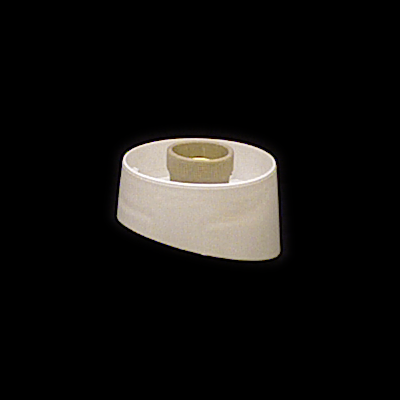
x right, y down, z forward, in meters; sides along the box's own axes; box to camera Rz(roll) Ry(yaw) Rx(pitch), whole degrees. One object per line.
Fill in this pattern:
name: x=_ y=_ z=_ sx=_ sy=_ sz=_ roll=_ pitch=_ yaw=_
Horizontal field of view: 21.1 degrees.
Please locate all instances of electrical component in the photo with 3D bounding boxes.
electrical component: x=0.000 y=0.000 z=0.637 sx=0.099 sy=0.065 sz=0.097 roll=1 pitch=20 yaw=0
